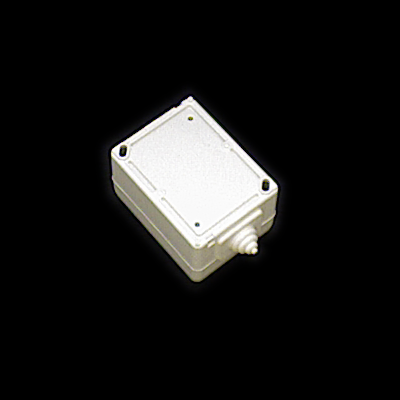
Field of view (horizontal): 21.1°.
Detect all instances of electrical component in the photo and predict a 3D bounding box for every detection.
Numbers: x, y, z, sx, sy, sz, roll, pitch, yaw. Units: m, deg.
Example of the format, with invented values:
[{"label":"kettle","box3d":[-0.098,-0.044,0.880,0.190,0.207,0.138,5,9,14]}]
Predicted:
[{"label":"electrical component","box3d":[0.000,0.000,0.624,0.062,0.096,0.060,-36,-22,-18]}]
